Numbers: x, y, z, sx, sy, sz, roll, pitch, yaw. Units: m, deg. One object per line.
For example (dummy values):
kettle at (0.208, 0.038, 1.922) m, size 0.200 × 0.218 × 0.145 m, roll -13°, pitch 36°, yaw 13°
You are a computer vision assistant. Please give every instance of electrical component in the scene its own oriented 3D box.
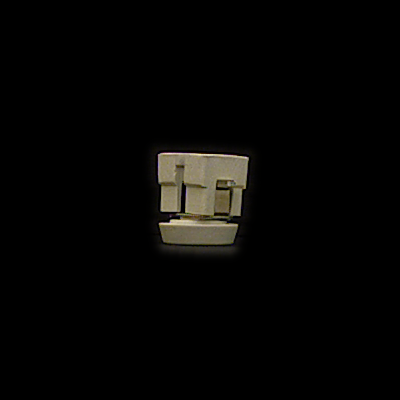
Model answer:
electrical component at (0.000, 0.000, 0.656) m, size 0.049 × 0.055 × 0.065 m, roll 1°, pitch 2°, yaw -41°
